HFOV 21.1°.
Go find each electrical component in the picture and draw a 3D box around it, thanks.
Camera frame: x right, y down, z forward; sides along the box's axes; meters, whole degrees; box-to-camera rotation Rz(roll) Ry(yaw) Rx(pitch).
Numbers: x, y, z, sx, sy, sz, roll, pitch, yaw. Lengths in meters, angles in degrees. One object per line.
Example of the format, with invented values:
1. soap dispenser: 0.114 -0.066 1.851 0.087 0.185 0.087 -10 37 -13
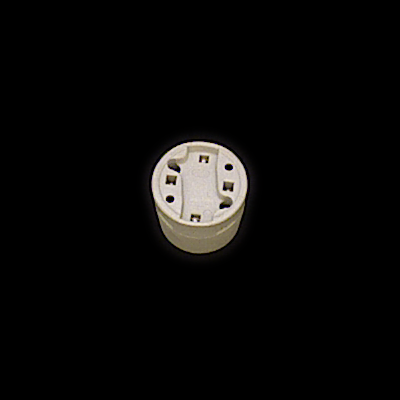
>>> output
1. electrical component: 0.000 0.000 0.633 0.055 0.056 0.047 0 -27 0
